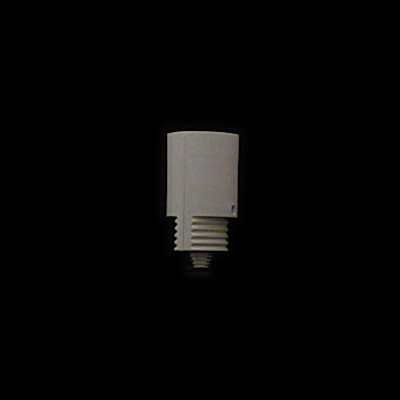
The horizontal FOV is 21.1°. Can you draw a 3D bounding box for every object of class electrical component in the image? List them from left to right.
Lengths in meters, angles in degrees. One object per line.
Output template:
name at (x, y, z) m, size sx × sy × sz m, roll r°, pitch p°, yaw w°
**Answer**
electrical component at (0.000, 0.000, 0.652) m, size 0.043 × 0.081 × 0.043 m, roll 2°, pitch 1°, yaw 0°
